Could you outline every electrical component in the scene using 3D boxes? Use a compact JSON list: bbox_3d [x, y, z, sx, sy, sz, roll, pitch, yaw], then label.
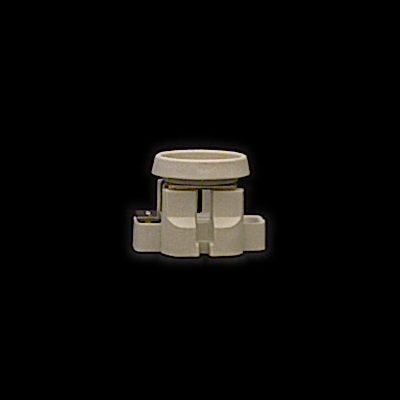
[{"bbox_3d":[0.000,0.000,0.643,0.079,0.057,0.057,0,11,-8],"label":"electrical component"}]
